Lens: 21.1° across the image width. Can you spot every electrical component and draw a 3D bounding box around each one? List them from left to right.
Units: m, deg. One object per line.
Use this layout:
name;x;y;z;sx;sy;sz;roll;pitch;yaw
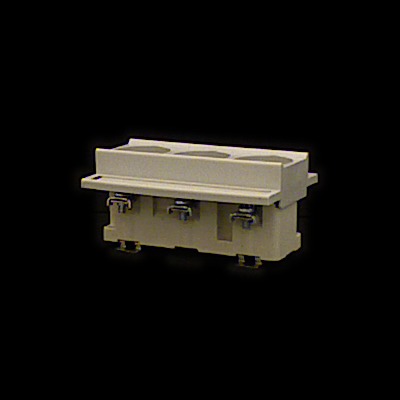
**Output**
electrical component;0.000;0.000;0.655;0.121;0.063;0.078;6;14;25
